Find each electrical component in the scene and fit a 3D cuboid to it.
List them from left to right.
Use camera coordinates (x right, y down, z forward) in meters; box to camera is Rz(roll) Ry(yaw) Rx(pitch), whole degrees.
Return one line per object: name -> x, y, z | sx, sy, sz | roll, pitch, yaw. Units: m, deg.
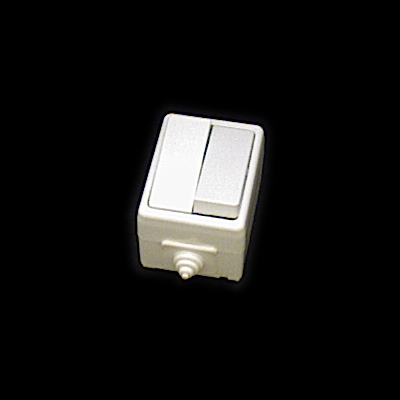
electrical component -> 0.000, 0.000, 0.626 | 0.061, 0.096, 0.061 | 9, -38, 7
